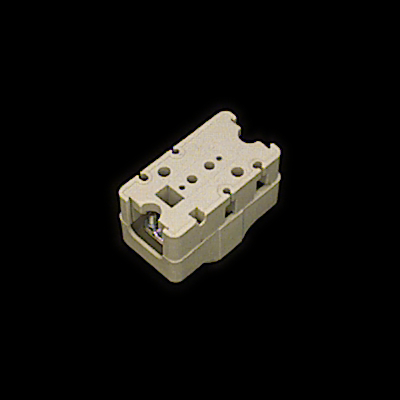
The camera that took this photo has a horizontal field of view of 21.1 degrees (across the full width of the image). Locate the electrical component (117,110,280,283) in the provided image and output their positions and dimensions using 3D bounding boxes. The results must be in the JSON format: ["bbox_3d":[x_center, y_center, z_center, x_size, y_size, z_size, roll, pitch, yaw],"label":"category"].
[{"bbox_3d":[0.000,0.000,0.637,0.050,0.056,0.090,39,62,25],"label":"electrical component"}]
